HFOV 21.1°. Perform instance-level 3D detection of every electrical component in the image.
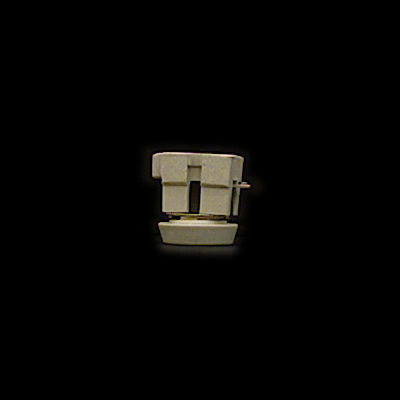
[{"bbox_3d":[0.000,0.000,0.656,0.066,0.055,0.048,3,1,13],"label":"electrical component"}]
